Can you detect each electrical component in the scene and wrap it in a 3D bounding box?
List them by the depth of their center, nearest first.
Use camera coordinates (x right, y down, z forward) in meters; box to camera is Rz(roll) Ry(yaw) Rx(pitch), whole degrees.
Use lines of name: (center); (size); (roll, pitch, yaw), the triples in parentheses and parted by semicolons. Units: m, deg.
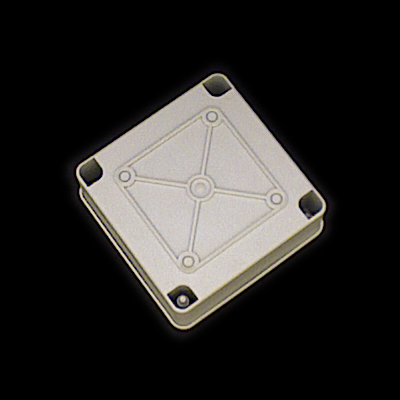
electrical component: (0.000, 0.000, 0.627); (0.109, 0.109, 0.056); (-35, -14, -9)
